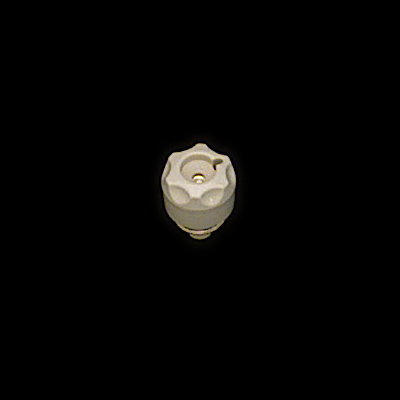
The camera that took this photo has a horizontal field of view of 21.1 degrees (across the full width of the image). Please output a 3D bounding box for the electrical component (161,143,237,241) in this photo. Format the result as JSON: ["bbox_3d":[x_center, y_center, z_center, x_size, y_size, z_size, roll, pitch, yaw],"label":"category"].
[{"bbox_3d":[0.000,0.000,0.635,0.043,0.043,0.062,0,-37,0],"label":"electrical component"}]
